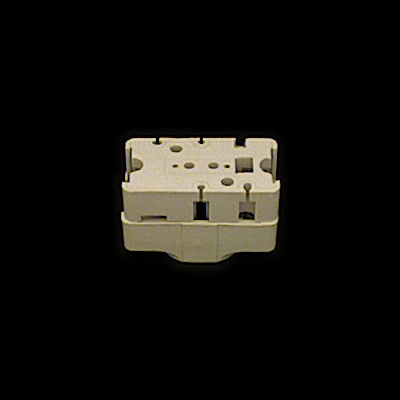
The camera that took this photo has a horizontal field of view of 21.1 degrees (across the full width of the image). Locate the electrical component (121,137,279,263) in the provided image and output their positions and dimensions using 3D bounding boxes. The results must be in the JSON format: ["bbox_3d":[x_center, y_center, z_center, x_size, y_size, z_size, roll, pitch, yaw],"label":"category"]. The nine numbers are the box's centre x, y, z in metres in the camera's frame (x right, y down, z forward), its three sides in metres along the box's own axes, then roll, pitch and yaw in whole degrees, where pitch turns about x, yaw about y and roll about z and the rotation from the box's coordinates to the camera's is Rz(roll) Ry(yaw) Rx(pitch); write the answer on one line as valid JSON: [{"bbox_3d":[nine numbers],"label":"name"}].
[{"bbox_3d":[0.000,0.000,0.640,0.090,0.056,0.050,1,42,-1],"label":"electrical component"}]
